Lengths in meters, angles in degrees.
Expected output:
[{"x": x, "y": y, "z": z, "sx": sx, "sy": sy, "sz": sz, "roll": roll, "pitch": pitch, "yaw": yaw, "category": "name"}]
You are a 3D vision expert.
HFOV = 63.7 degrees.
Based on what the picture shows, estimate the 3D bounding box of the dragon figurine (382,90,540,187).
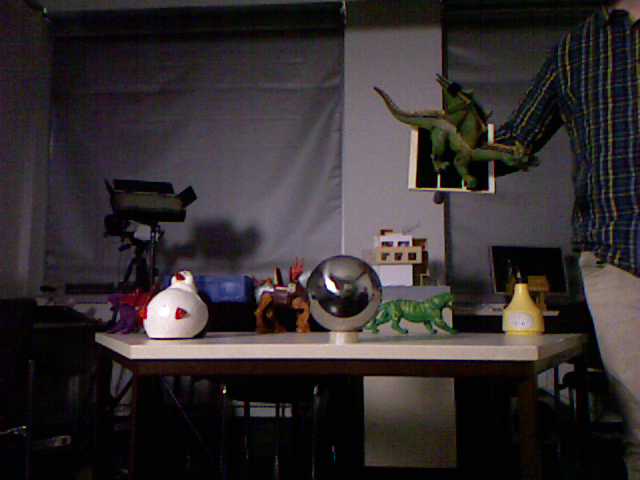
[{"x": 0.309, "y": -0.268, "z": 1.188, "sx": 0.413, "sy": 0.123, "sz": 0.238, "roll": 37, "pitch": -16, "yaw": 14, "category": "dragon figurine"}]
